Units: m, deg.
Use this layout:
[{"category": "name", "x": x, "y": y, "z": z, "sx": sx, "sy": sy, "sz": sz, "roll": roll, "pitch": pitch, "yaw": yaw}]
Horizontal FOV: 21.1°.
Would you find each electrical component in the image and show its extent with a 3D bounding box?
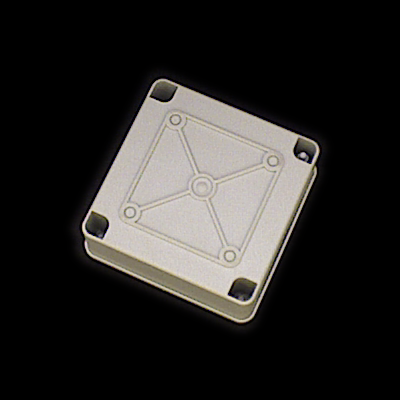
[{"category": "electrical component", "x": 0.000, "y": 0.000, "z": 0.628, "sx": 0.109, "sy": 0.109, "sz": 0.056, "roll": 24, "pitch": -16, "yaw": 7}]
